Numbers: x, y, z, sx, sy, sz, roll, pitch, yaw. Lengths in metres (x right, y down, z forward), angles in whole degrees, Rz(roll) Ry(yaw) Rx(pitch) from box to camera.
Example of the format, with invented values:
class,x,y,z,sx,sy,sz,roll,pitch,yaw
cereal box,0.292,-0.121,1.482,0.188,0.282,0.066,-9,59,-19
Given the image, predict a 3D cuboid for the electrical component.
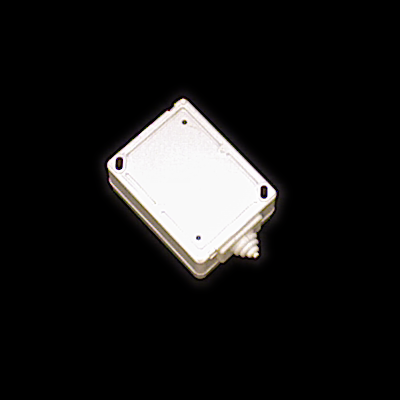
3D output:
class,x,y,z,sx,sy,sz,roll,pitch,yaw
electrical component,0.000,0.000,0.627,0.062,0.096,0.060,-42,-12,-11
